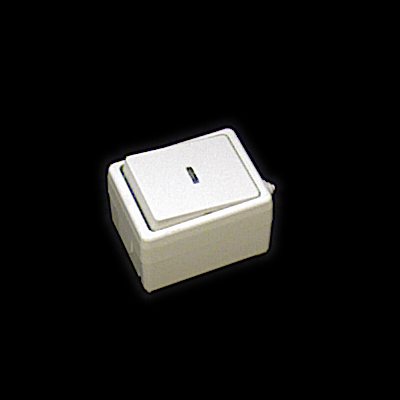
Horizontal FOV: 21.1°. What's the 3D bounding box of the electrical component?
[{"bbox_3d":[0.000,0.000,0.628,0.096,0.061,0.061,-18,-35,-14],"label":"electrical component"}]
